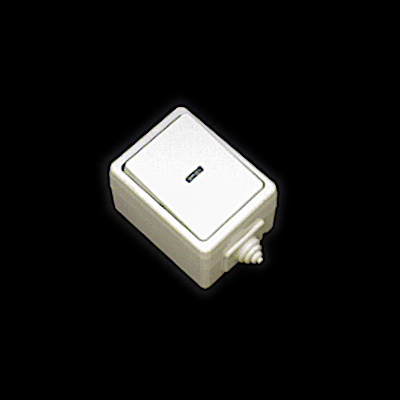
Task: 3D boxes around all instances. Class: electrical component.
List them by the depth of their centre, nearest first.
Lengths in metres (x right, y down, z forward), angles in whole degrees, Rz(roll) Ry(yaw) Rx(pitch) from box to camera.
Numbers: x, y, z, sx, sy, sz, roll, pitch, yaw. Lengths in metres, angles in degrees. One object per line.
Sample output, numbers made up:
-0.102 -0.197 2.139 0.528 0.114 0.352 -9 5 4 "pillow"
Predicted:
0.000 0.000 0.625 0.096 0.062 0.060 41 -20 19 "electrical component"
